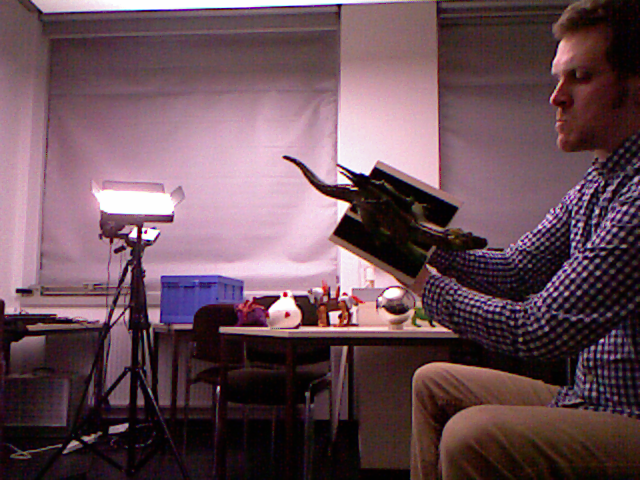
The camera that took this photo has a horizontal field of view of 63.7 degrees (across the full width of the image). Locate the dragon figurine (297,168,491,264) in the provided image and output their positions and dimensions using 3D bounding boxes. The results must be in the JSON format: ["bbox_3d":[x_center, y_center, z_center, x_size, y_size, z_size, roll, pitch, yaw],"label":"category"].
[{"bbox_3d":[0.111,-0.069,0.956,0.413,0.123,0.241,27,-7,13],"label":"dragon figurine"}]
